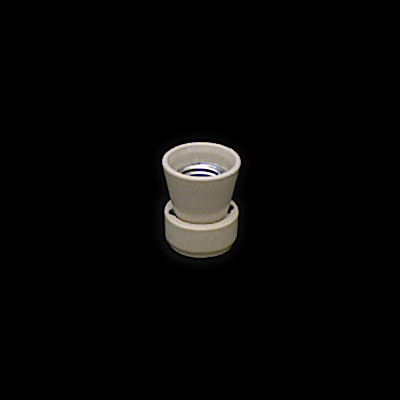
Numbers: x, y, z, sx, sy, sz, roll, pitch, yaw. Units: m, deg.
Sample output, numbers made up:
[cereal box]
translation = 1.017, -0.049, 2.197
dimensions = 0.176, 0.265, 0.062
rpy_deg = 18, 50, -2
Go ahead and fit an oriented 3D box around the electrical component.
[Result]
[electrical component]
translation = 0.000, 0.000, 0.636
dimensions = 0.045, 0.056, 0.044
rpy_deg = 1, 31, 0
